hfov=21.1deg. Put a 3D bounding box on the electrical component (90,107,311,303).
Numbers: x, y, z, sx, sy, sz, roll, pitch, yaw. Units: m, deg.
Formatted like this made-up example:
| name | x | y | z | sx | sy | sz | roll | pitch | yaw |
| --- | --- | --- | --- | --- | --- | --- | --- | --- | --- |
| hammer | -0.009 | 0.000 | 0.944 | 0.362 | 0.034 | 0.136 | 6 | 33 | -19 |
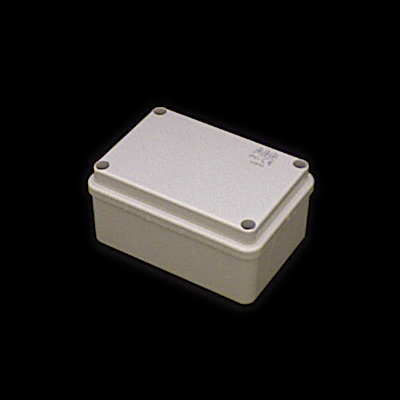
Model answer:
| name | x | y | z | sx | sy | sz | roll | pitch | yaw |
| --- | --- | --- | --- | --- | --- | --- | --- | --- | --- |
| electrical component | 0.000 | 0.000 | 0.633 | 0.112 | 0.057 | 0.078 | 22 | 46 | 22 |
